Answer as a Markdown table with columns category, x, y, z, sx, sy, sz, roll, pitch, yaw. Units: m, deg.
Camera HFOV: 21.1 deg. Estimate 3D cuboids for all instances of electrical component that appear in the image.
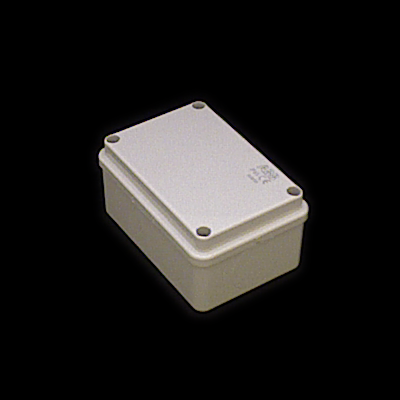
| category | x | y | z | sx | sy | sz | roll | pitch | yaw |
| --- | --- | --- | --- | --- | --- | --- | --- | --- | --- |
| electrical component | 0.000 | 0.000 | 0.632 | 0.078 | 0.057 | 0.112 | -24 | 47 | -25 |
